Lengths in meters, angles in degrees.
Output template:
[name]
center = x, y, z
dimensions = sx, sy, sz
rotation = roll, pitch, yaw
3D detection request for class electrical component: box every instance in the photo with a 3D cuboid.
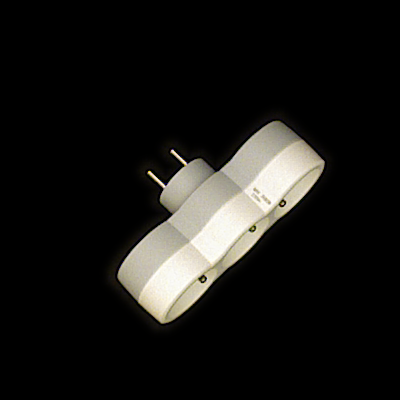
[electrical component]
center = 0.000, 0.000, 0.638
dimensions = 0.139, 0.073, 0.052
rotation = -43, -13, -11
